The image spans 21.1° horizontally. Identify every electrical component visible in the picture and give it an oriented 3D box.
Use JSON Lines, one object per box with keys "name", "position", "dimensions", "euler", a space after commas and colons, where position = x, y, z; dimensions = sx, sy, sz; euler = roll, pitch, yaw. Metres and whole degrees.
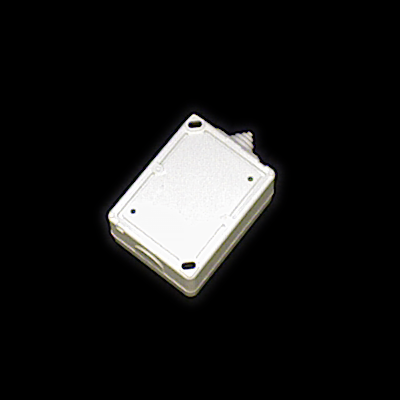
{"name": "electrical component", "position": [0.000, 0.000, 0.628], "dimensions": [0.062, 0.096, 0.061], "euler": [36, -14, 11]}
